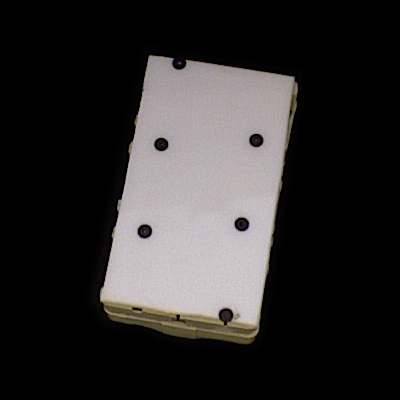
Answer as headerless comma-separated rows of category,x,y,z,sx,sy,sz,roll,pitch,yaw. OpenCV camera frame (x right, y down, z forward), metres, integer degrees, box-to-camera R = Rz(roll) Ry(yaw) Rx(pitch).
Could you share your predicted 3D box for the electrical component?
electrical component,0.000,0.000,0.631,0.089,0.150,0.062,10,-17,3
